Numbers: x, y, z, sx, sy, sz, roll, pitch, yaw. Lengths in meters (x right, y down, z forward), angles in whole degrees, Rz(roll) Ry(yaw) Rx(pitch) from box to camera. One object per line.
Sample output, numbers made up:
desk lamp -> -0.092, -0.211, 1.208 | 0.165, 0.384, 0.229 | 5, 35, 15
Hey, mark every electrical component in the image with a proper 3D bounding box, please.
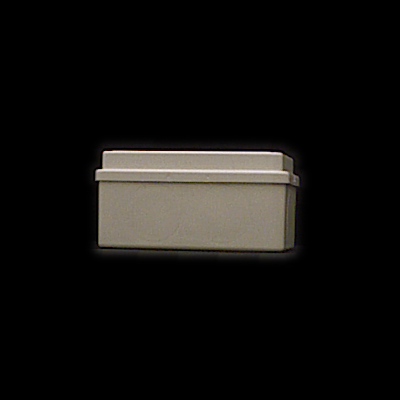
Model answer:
electrical component -> 0.000, 0.000, 0.651 | 0.113, 0.057, 0.078 | 1, 0, 10
